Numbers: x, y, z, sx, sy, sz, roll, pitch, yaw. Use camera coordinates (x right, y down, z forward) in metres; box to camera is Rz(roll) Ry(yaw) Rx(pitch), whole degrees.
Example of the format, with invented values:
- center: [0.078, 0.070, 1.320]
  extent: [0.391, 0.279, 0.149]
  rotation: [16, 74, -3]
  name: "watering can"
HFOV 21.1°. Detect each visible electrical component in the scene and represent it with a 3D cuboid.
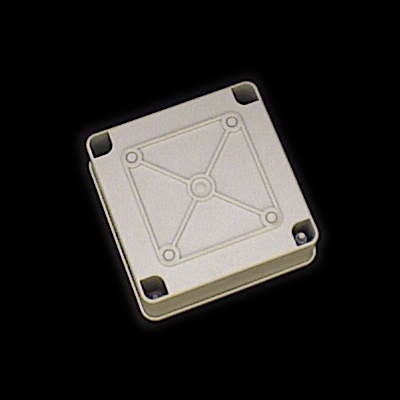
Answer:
- center: [0.000, 0.000, 0.628]
  extent: [0.109, 0.109, 0.056]
  rotation: [-20, -16, -6]
  name: "electrical component"
